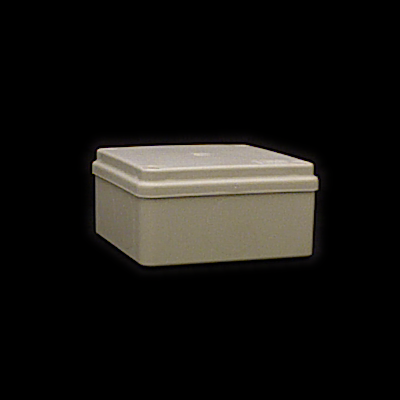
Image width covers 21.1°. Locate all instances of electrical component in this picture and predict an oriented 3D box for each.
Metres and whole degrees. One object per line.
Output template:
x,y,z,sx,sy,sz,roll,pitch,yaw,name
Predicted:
0.000,0.000,0.645,0.109,0.056,0.107,-3,11,-21,electrical component
